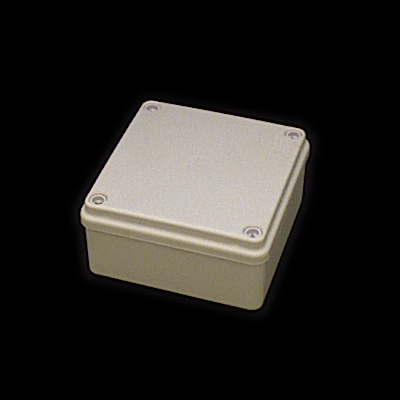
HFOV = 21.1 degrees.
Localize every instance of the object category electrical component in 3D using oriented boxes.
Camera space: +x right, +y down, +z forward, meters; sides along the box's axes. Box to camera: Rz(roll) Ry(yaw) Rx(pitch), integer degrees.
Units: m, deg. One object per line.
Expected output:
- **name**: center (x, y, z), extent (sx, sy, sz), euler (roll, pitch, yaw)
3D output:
- **electrical component**: center (0.000, 0.000, 0.632), extent (0.108, 0.056, 0.108), euler (12, 43, 13)
